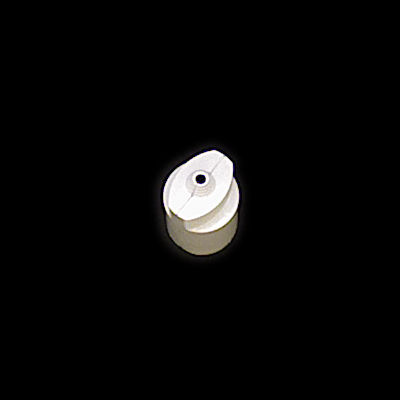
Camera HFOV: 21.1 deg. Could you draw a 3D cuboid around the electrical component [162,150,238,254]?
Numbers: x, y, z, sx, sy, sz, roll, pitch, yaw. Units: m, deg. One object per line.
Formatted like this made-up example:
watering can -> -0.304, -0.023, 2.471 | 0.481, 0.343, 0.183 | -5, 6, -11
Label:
electrical component -> 0.000, 0.000, 0.616 | 0.043, 0.043, 0.080 | 0, -17, 0
